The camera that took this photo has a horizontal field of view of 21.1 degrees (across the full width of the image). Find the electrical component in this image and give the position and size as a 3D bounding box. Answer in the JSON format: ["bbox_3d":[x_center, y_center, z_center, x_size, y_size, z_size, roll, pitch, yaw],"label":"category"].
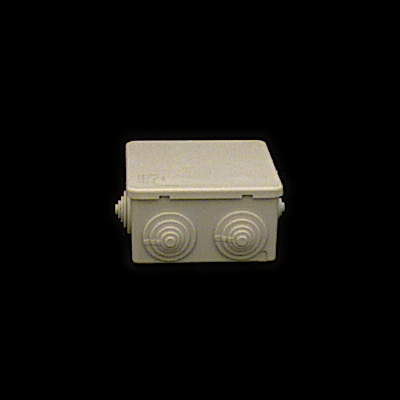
[{"bbox_3d":[0.000,0.000,0.646,0.100,0.049,0.098,-1,22,-5],"label":"electrical component"}]
